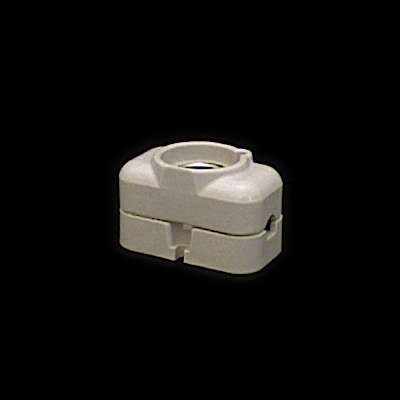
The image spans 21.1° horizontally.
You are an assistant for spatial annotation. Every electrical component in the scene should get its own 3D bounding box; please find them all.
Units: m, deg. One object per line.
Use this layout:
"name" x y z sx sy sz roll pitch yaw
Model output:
"electrical component" 0.000 0.000 0.647 0.094 0.060 0.053 12 25 24
